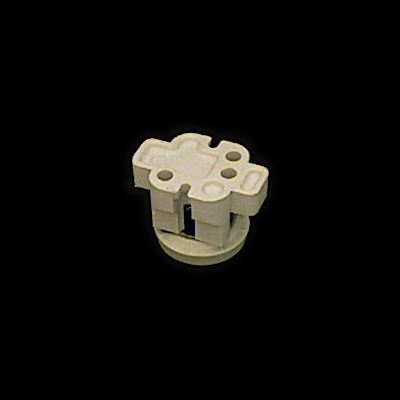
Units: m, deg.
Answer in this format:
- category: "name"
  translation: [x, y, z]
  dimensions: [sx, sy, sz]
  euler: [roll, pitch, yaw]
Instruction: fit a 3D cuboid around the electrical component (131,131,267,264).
- category: "electrical component"
  translation: [0.000, 0.000, 0.638]
  dimensions: [0.078, 0.057, 0.058]
  euler: [14, 45, 16]
